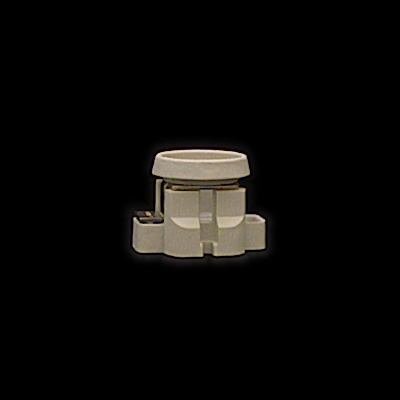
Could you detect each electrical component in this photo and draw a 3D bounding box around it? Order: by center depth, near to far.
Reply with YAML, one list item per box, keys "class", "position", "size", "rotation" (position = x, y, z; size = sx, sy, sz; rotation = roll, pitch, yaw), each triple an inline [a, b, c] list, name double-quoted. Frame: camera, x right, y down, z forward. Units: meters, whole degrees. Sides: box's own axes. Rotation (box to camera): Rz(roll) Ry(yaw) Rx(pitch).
- class: "electrical component"
  position: [0.000, 0.000, 0.643]
  size: [0.079, 0.057, 0.057]
  rotation: [-1, 11, -13]
